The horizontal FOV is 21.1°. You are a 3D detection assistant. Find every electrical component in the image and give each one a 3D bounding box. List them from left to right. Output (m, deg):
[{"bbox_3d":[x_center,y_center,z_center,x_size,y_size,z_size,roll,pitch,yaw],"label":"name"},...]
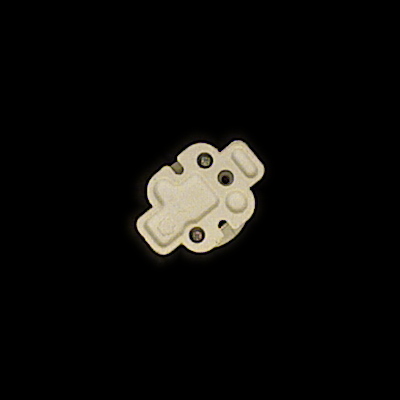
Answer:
[{"bbox_3d":[0.000,0.000,0.636,0.078,0.058,0.056,-40,-4,-2],"label":"electrical component"}]
